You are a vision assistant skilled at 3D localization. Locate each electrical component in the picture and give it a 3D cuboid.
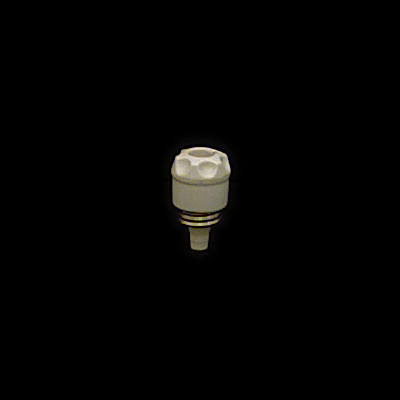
[{"bbox_3d":[0.000,0.000,0.645,0.035,0.062,0.034,1,22,0],"label":"electrical component"}]
